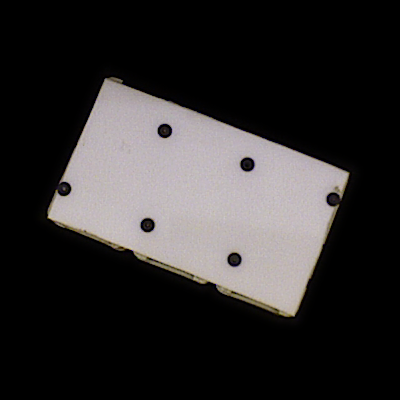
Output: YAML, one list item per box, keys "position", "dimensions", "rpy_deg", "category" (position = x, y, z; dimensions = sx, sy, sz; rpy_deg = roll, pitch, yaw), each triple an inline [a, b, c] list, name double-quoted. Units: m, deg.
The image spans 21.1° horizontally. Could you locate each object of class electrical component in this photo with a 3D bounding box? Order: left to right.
- position: [0.000, 0.000, 0.631]
  dimensions: [0.150, 0.089, 0.061]
  rpy_deg: [22, -6, 3]
  category: "electrical component"
